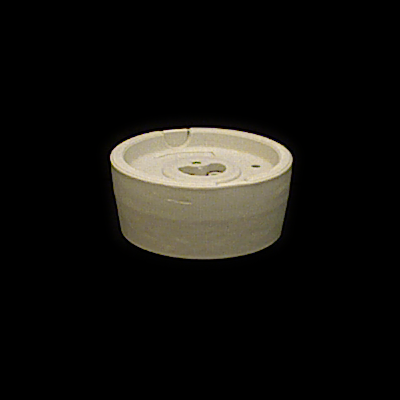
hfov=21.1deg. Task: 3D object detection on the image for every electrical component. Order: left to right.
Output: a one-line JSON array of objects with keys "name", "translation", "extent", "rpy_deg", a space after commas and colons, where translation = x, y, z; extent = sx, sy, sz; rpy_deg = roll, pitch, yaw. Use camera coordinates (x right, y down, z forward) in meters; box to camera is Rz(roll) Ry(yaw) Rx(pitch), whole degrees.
[{"name": "electrical component", "translation": [0.000, 0.000, 0.648], "extent": [0.108, 0.061, 0.106], "rpy_deg": [1, 22, 0]}]
